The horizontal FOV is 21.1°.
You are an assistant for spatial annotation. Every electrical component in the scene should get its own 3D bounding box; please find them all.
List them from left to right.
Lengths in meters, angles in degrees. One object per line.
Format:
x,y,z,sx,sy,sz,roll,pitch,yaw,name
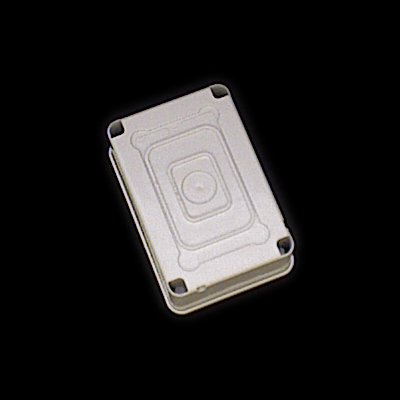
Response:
0.000,0.000,0.628,0.078,0.113,0.057,-21,-16,-6,electrical component
